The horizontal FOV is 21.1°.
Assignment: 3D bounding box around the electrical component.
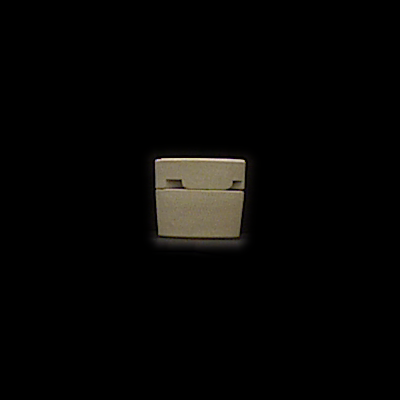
[{"bbox_3d":[0.000,0.000,0.649,0.055,0.047,0.055,1,0,0],"label":"electrical component"}]
